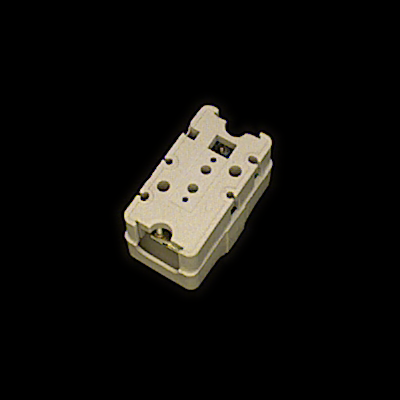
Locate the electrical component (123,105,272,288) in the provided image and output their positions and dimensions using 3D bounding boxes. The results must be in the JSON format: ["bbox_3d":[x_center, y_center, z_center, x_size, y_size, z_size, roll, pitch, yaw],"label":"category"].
[{"bbox_3d":[0.000,0.000,0.636,0.050,0.090,0.055,29,-24,14],"label":"electrical component"}]
